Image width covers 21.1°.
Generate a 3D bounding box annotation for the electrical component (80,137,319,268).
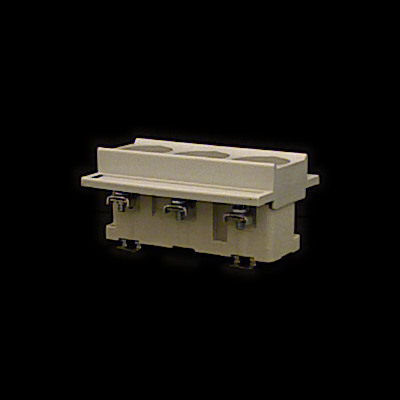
[{"bbox_3d":[0.000,0.000,0.655,0.121,0.063,0.078,8,14,30],"label":"electrical component"}]
